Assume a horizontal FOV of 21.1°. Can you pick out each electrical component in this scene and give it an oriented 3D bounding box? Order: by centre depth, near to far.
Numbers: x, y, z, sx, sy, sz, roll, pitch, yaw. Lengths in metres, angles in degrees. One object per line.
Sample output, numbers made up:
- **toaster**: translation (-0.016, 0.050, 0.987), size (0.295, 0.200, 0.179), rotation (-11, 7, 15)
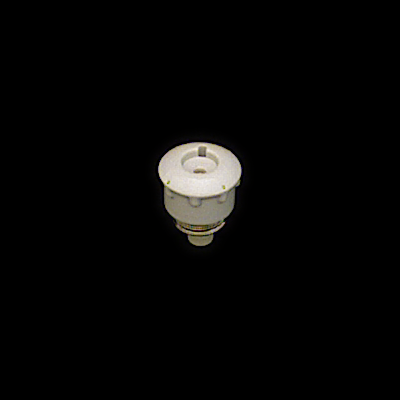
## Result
- **electrical component**: translation (0.000, 0.000, 0.638), size (0.048, 0.062, 0.047), rotation (1, 43, 0)
